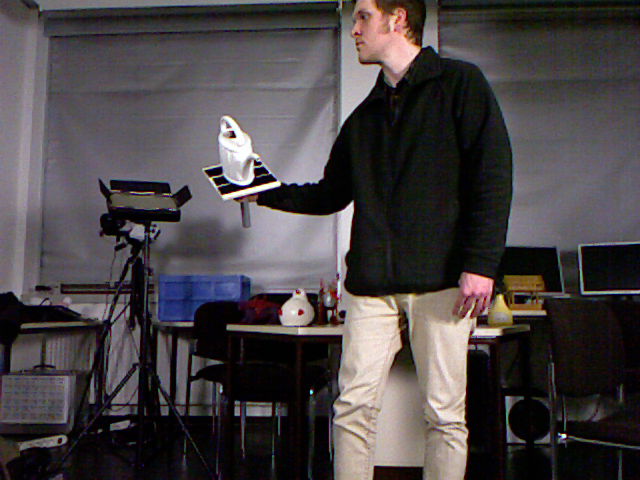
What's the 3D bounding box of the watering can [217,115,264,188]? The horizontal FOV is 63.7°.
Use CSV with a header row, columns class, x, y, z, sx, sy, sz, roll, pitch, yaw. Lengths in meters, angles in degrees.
class,x,y,z,sx,sy,sz,roll,pitch,yaw
watering can,-0.259,-0.266,1.662,0.105,0.219,0.355,-19,42,-22
